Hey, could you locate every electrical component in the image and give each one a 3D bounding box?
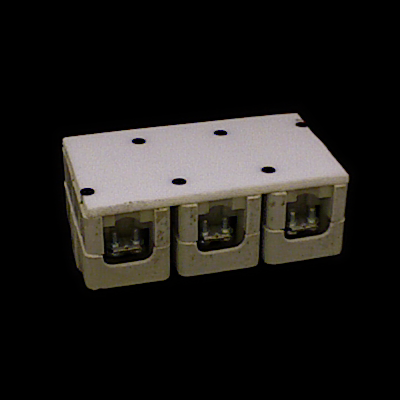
[{"bbox_3d":[0.000,0.000,0.638,0.150,0.063,0.087,-7,32,-13],"label":"electrical component"}]
